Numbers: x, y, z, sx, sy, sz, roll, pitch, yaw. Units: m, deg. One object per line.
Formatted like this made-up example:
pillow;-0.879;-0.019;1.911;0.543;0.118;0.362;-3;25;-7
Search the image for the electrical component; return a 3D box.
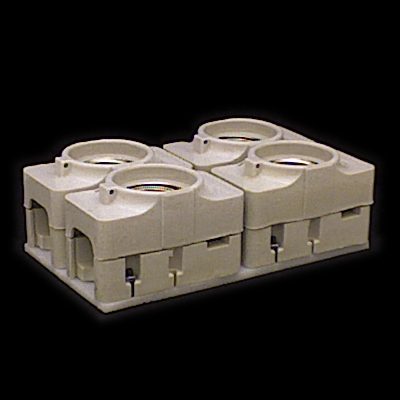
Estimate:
electrical component;0.000;0.000;0.637;0.186;0.061;0.104;-12;24;-30
